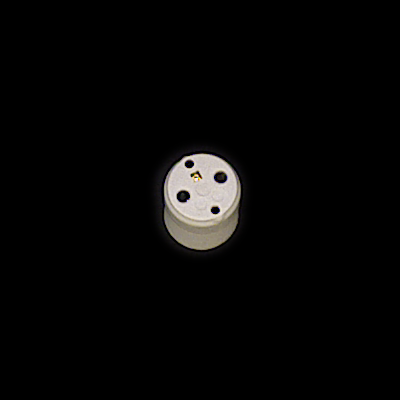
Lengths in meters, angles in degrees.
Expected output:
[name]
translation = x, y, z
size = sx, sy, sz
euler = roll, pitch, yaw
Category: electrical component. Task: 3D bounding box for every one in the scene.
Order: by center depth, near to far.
[electrical component]
translation = 0.000, 0.000, 0.629
size = 0.045, 0.045, 0.055
euler = 0, -16, 0
